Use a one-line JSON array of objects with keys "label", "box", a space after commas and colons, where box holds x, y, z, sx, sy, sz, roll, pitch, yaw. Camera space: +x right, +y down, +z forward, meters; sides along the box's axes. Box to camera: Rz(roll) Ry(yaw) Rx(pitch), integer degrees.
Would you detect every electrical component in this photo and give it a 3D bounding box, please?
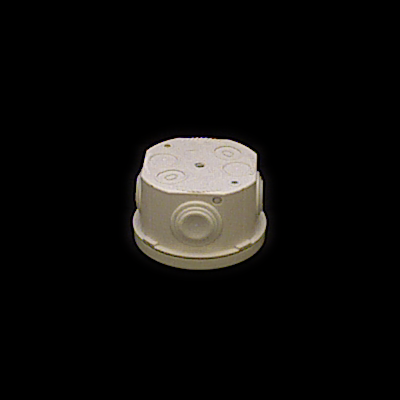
[{"label": "electrical component", "box": [0.000, 0.000, 0.638, 0.080, 0.051, 0.079, 0, 31, 0]}]
